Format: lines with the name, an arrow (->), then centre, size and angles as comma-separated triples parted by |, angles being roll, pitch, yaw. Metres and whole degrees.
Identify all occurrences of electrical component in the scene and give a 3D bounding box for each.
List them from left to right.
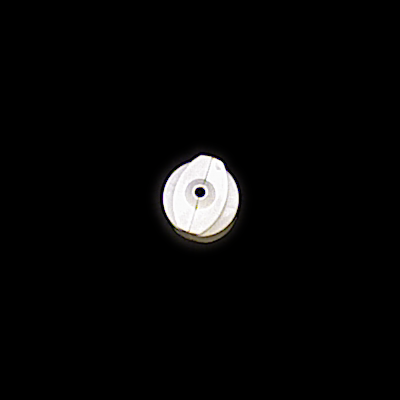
electrical component -> 0.000, 0.000, 0.617 | 0.043, 0.043, 0.080 | 0, -6, 1
